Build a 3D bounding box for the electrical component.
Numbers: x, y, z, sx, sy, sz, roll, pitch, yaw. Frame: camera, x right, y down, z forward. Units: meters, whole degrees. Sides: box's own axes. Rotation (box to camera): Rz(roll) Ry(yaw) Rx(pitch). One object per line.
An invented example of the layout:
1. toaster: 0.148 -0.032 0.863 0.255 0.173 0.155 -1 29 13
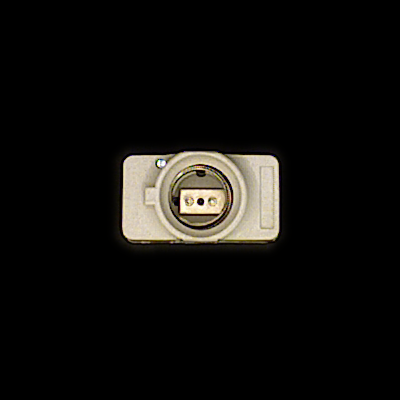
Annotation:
1. electrical component: 0.000 0.000 0.637 0.089 0.050 0.055 0 -6 0
